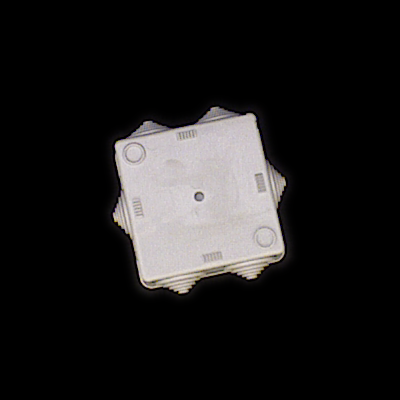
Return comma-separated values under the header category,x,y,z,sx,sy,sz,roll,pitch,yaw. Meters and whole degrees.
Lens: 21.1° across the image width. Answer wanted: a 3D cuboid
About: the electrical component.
category,x,y,z,sx,sy,sz,roll,pitch,yaw
electrical component,0.000,0.000,0.632,0.100,0.100,0.048,-12,-6,-2
